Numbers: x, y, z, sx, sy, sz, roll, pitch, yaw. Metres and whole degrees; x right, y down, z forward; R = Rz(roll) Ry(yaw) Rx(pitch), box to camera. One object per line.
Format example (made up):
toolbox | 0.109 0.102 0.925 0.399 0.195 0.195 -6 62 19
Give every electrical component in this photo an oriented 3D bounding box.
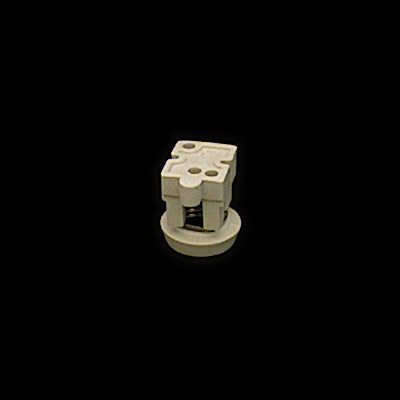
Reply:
electrical component | 0.000 0.000 0.642 0.048 0.056 0.066 6 32 10
